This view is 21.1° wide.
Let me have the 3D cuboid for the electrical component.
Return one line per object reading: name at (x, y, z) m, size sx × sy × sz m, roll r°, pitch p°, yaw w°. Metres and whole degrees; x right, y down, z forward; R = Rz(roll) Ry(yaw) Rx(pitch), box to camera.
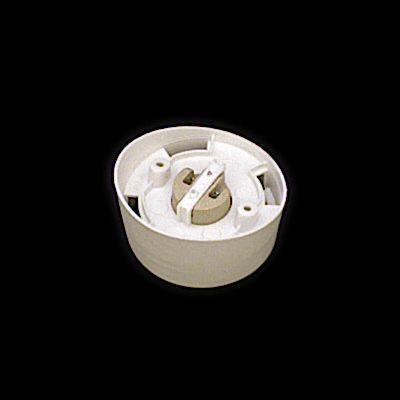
electrical component at (0.000, 0.000, 0.625) m, size 0.099 × 0.098 × 0.064 m, roll 0°, pitch -37°, yaw -1°
